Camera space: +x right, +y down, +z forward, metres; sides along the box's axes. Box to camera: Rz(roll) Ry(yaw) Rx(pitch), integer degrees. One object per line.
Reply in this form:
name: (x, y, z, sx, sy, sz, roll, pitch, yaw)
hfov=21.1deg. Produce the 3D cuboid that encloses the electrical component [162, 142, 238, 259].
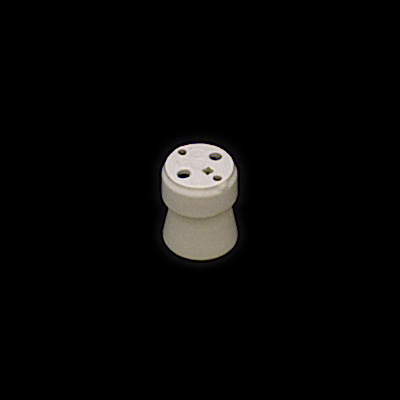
electrical component: (0.000, 0.000, 0.631, 0.045, 0.055, 0.044, 0, 42, 0)
